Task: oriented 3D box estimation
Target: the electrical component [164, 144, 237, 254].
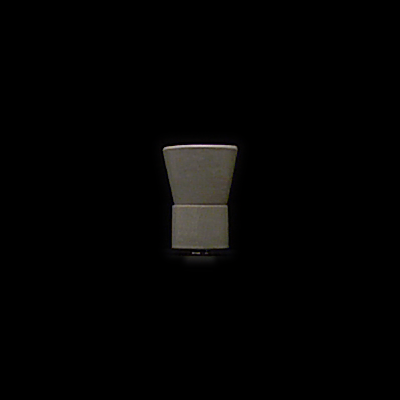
[{"bbox_3d":[0.000,0.000,0.648,0.044,0.065,0.044,0,1,0],"label":"electrical component"}]
